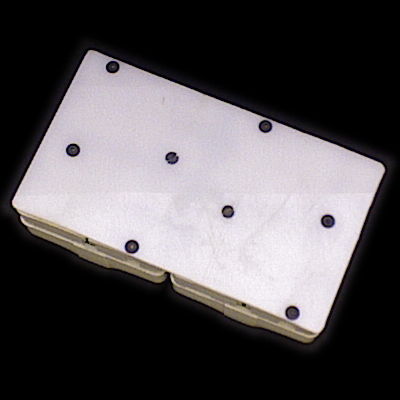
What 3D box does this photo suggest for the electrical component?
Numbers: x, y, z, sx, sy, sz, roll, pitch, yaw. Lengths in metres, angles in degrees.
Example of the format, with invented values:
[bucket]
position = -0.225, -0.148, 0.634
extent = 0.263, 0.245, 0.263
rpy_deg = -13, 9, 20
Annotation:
[electrical component]
position = 0.000, 0.000, 0.625
extent = 0.186, 0.106, 0.060
rpy_deg = 22, -16, 6
